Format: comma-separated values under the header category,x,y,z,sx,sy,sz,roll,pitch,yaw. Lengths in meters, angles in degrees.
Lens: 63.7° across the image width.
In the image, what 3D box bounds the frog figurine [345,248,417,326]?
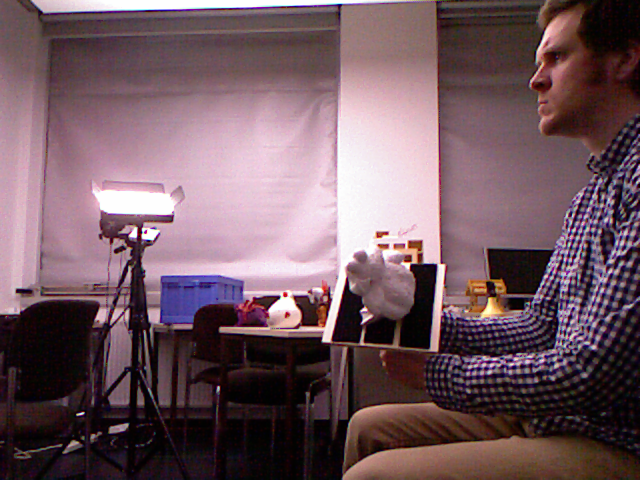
category,x,y,z,sx,sy,sz,roll,pitch,yaw
frog figurine,0.107,0.068,0.895,0.124,0.140,0.156,21,-33,27
